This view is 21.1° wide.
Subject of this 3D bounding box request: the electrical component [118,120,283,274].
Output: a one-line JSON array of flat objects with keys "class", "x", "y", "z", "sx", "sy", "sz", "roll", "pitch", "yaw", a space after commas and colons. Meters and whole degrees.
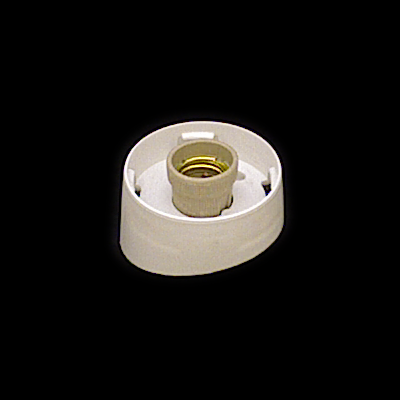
[{"class": "electrical component", "x": 0.000, "y": 0.000, "z": 0.630, "sx": 0.099, "sy": 0.065, "sz": 0.098, "roll": 0, "pitch": 42, "yaw": 0}]
